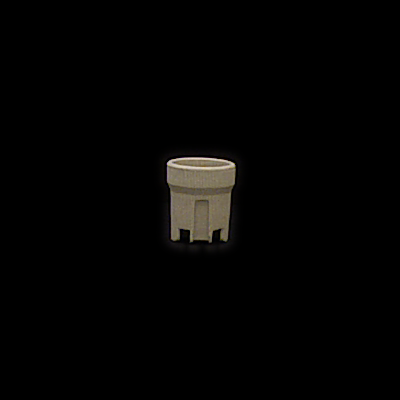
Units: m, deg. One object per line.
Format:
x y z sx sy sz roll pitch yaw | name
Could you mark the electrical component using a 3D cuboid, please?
0.000 0.000 0.642 0.040 0.046 0.040 1 11 0 | electrical component
